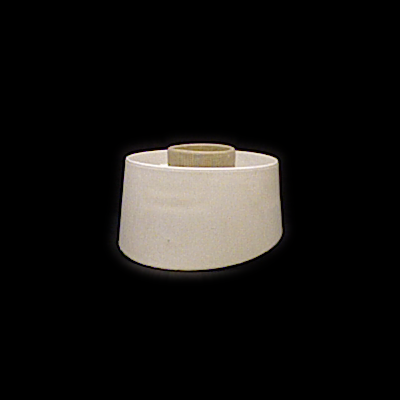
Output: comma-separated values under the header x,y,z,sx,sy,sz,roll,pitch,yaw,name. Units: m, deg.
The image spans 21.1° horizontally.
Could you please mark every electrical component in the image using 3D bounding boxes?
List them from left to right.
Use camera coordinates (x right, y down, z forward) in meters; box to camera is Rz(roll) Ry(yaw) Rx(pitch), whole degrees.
x,y,z,sx,sy,sz,roll,pitch,yaw,name
0.000,0.000,0.644,0.099,0.064,0.098,1,11,0,electrical component
